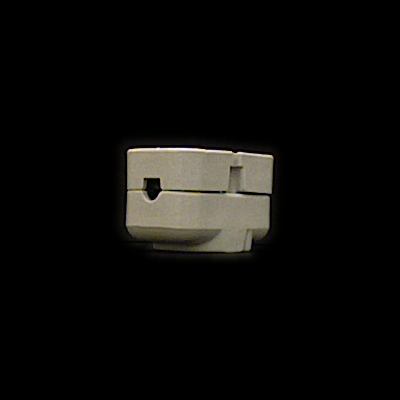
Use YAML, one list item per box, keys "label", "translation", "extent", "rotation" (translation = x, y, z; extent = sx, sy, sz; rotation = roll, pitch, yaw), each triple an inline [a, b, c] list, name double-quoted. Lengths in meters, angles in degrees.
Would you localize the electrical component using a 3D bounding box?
- label: "electrical component"
  translation: [0.000, 0.000, 0.657]
  extent: [0.053, 0.059, 0.096]
  rotation: [2, 1, 37]
